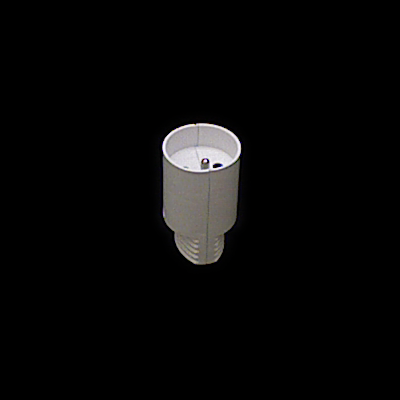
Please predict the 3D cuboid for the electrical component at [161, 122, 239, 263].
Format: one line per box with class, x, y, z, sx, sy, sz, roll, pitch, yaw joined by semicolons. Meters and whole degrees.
electrical component;0.000;0.000;0.622;0.043;0.082;0.042;0;42;0
